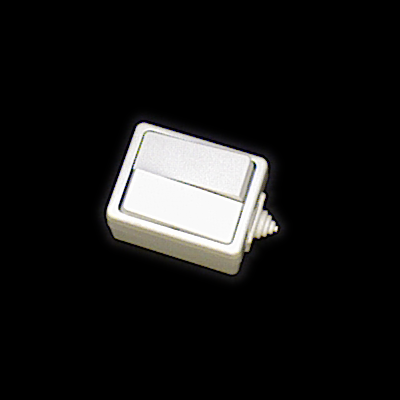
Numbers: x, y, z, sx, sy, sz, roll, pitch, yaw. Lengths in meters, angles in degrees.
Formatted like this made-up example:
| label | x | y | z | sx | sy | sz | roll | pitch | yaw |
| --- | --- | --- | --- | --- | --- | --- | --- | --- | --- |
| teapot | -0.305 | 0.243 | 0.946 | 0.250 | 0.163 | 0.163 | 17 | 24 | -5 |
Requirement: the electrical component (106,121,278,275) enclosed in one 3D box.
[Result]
| label | x | y | z | sx | sy | sz | roll | pitch | yaw |
| --- | --- | --- | --- | --- | --- | --- | --- | --- | --- |
| electrical component | 0.000 | 0.000 | 0.626 | 0.096 | 0.062 | 0.060 | 17 | -16 | 5 |
